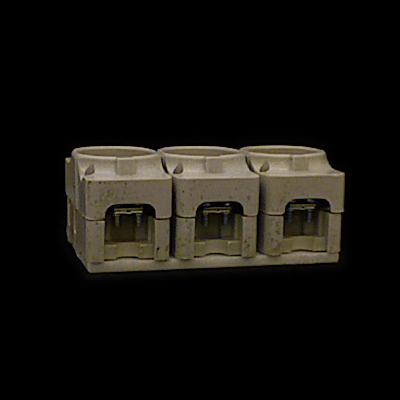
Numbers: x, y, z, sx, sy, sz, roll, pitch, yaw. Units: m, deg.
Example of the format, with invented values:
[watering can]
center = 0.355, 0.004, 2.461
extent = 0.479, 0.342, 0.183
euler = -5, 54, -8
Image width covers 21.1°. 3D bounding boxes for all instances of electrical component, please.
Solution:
[electrical component]
center = 0.000, 0.000, 0.649
extent = 0.150, 0.062, 0.088
euler = -2, 11, -15
